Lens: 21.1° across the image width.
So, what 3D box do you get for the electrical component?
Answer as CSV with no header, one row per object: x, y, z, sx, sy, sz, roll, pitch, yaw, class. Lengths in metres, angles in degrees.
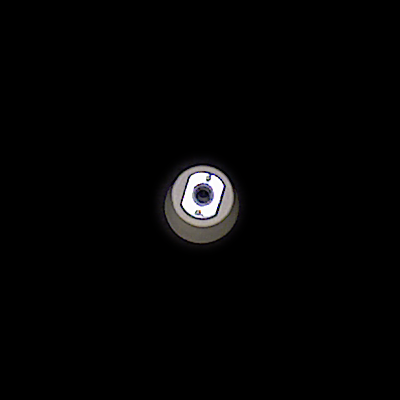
0.000,0.000,0.625,0.044,0.044,0.065,0,-6,0,electrical component
